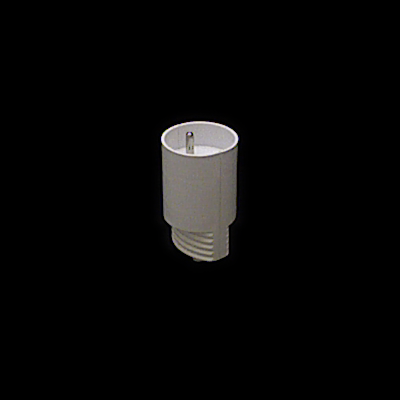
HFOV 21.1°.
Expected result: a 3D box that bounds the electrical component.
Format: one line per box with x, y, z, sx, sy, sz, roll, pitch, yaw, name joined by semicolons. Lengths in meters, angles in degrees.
0.000;0.000;0.628;0.043;0.082;0.042;1;31;0;electrical component
